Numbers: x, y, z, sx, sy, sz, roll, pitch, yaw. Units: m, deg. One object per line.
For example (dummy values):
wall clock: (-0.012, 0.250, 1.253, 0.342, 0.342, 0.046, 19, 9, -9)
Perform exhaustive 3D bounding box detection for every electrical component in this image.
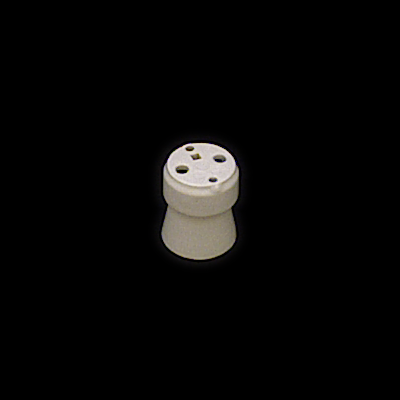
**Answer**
electrical component: (0.000, 0.000, 0.633, 0.045, 0.055, 0.044, 1, 42, -1)
